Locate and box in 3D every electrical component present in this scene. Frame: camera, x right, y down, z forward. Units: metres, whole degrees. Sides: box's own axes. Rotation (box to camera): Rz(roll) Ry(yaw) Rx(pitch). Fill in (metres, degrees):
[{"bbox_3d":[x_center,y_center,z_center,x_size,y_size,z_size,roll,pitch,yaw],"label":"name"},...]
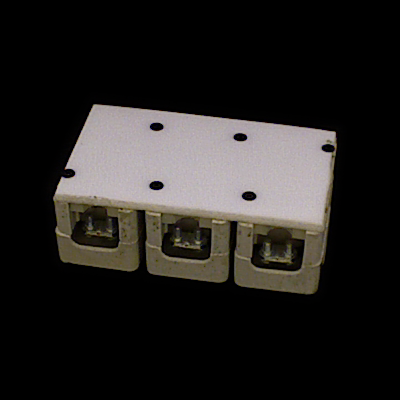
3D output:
[{"bbox_3d":[0.000,0.000,0.635,0.150,0.063,0.088,7,42,8],"label":"electrical component"}]
